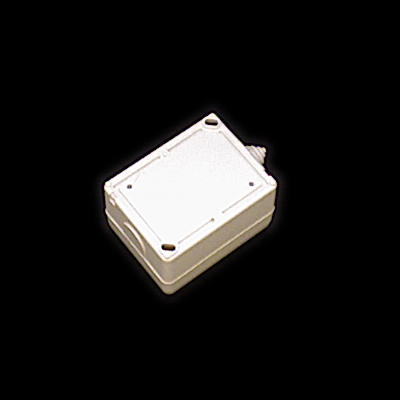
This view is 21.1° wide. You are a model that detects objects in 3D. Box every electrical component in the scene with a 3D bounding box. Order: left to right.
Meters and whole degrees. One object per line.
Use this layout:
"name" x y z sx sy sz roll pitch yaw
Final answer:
"electrical component" 0.000 0.000 0.627 0.096 0.062 0.061 -34 -22 -17
